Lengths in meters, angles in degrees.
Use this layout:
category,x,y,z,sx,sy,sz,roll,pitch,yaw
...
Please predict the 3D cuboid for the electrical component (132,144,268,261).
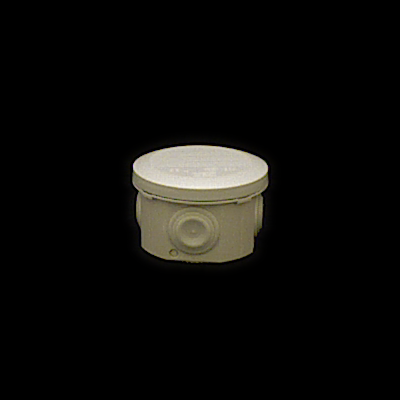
category,x,y,z,sx,sy,sz,roll,pitch,yaw
electrical component,0.000,0.000,0.639,0.080,0.051,0.079,1,21,0
